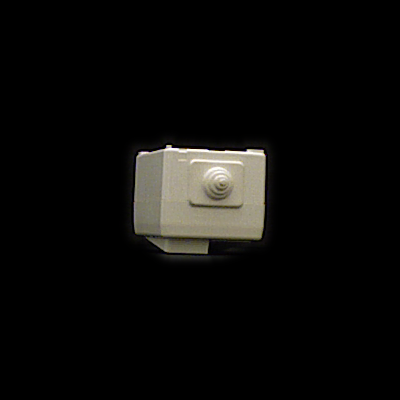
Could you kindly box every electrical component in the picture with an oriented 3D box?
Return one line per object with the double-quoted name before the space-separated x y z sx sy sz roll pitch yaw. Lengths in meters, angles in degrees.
"electrical component" 0.000 0.000 0.643 0.062 0.061 0.096 2 -1 -16
